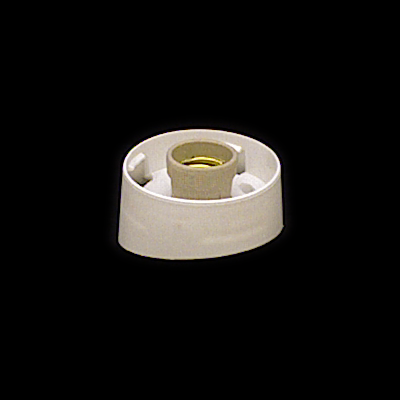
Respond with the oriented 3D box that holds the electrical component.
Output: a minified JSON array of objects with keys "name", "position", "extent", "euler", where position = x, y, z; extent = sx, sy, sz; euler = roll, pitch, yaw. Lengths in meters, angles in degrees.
[{"name":"electrical component","position":[0.000,0.000,0.633],"extent":[0.099,0.065,0.097],"euler":[1,31,0]}]
